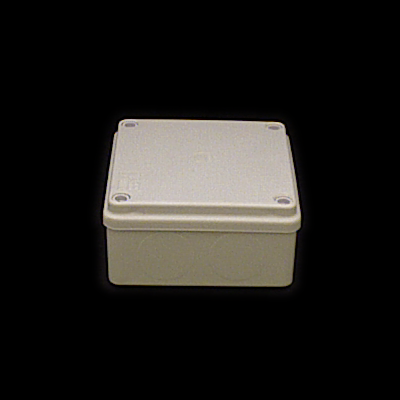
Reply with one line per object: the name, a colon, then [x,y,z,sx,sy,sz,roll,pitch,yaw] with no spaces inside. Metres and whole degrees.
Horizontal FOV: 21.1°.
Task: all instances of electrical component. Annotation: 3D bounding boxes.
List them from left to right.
electrical component: [0.000,0.000,0.636,0.109,0.057,0.107,1,31,-1]
